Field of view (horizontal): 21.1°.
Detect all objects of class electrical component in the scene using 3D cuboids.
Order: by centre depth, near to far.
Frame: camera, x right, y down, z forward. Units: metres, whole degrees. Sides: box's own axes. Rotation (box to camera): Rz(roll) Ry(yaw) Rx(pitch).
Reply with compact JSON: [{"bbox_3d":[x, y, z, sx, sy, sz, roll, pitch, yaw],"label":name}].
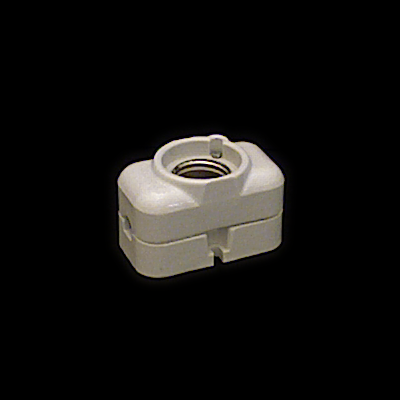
[{"bbox_3d":[0.000,0.000,0.642,0.096,0.060,0.052,-13,35,-22],"label":"electrical component"}]
